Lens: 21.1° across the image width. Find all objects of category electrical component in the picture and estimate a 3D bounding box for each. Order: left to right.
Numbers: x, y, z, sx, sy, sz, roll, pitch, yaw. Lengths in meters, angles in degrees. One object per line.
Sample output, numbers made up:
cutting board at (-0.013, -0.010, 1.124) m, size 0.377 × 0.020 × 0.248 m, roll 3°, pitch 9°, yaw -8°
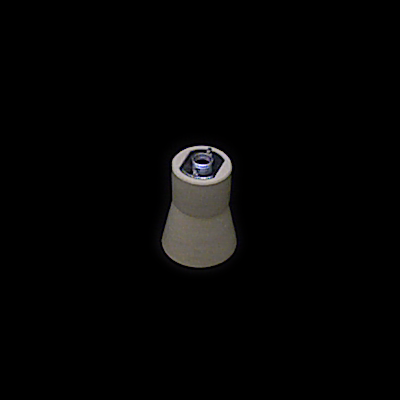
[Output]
electrical component at (0.000, 0.000, 0.628) m, size 0.044 × 0.066 × 0.044 m, roll 1°, pitch 42°, yaw -1°
